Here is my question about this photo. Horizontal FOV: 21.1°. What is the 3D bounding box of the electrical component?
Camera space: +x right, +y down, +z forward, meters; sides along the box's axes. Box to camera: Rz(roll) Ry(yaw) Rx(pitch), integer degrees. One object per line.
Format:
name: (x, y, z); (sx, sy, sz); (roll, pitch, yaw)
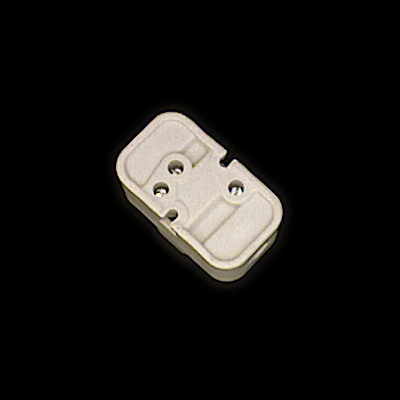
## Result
electrical component: (0.000, 0.000, 0.634); (0.095, 0.054, 0.059); (42, -11, 10)
